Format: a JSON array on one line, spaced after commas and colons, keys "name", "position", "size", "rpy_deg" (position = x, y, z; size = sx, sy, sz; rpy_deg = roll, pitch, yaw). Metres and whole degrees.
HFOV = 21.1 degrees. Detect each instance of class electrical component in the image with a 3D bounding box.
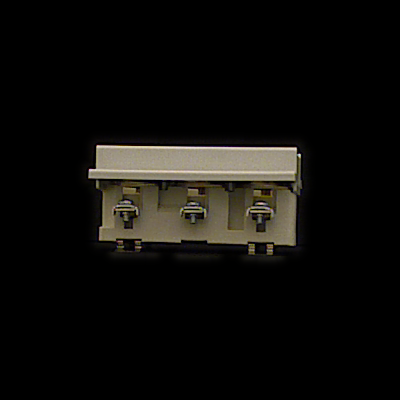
[{"name": "electrical component", "position": [0.000, 0.000, 0.664], "size": [0.121, 0.063, 0.079], "rpy_deg": [1, -1, 8]}]
